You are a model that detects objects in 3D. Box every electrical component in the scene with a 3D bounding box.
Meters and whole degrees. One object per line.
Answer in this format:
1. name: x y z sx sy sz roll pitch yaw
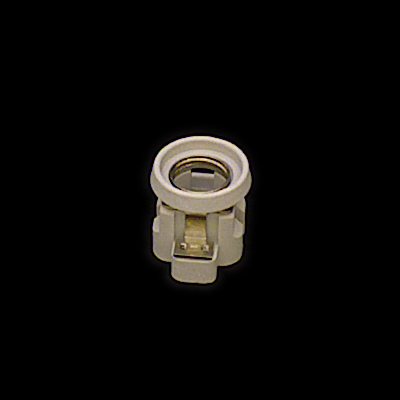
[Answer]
1. electrical component: 0.000 0.000 0.630 0.058 0.057 0.078 4 42 4
